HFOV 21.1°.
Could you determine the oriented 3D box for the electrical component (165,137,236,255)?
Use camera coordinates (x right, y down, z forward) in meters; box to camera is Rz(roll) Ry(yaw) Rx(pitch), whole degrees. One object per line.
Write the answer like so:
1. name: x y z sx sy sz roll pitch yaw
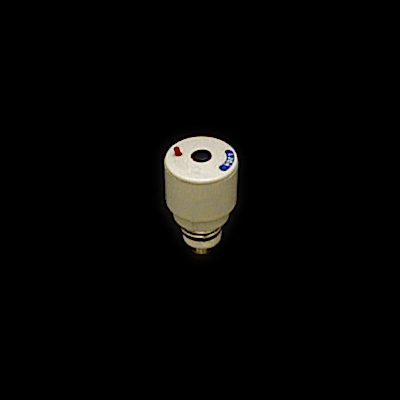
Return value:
1. electrical component: 0.000 0.000 0.625 0.040 0.079 0.039 0 42 0
